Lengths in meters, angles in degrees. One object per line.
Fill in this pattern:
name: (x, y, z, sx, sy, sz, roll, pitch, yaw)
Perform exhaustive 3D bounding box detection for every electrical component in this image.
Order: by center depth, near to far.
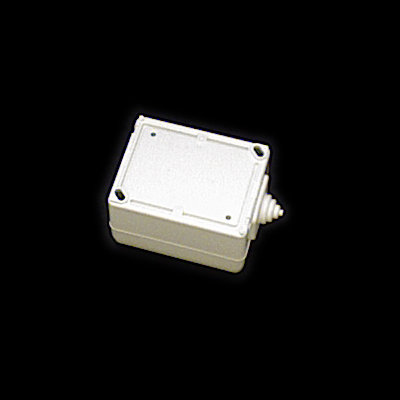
electrical component: (0.000, 0.000, 0.626, 0.096, 0.062, 0.061, 14, -27, 7)
